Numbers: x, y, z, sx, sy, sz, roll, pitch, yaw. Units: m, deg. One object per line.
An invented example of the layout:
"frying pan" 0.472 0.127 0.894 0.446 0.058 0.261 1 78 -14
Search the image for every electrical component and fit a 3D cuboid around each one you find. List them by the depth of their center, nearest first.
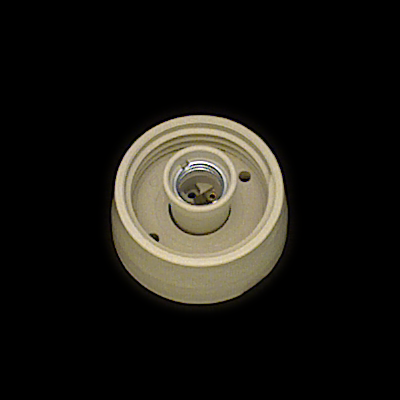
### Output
"electrical component" 0.000 0.000 0.633 0.108 0.108 0.060 0 -27 0
